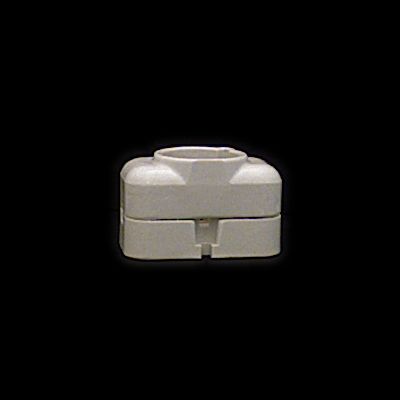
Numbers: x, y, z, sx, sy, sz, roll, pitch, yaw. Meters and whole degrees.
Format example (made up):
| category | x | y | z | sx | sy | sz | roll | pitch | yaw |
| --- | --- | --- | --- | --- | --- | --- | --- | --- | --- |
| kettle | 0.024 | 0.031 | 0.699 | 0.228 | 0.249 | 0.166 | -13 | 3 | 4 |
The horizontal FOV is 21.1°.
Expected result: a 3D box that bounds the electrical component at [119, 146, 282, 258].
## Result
| category | x | y | z | sx | sy | sz | roll | pitch | yaw |
| --- | --- | --- | --- | --- | --- | --- | --- | --- | --- |
| electrical component | 0.000 | 0.000 | 0.652 | 0.095 | 0.060 | 0.053 | -1 | 12 | -11 |
